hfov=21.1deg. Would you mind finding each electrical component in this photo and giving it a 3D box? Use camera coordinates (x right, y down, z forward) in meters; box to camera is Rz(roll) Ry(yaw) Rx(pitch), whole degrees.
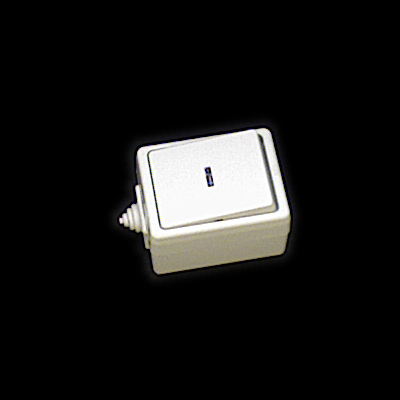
[{"bbox_3d":[0.000,0.000,0.626,0.096,0.062,0.061,-9,-27,-5],"label":"electrical component"}]
